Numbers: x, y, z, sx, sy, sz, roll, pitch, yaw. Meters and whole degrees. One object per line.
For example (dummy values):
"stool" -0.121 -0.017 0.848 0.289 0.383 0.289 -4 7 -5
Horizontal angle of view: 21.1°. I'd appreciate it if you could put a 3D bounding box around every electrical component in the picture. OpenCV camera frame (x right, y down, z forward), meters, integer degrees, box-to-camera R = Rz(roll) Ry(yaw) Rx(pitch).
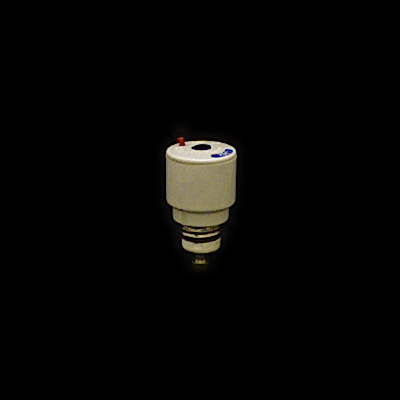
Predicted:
"electrical component" 0.000 0.000 0.637 0.040 0.079 0.039 0 21 0
